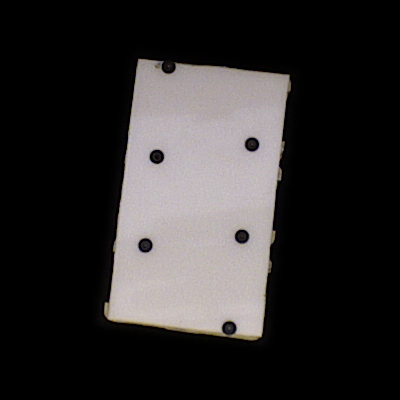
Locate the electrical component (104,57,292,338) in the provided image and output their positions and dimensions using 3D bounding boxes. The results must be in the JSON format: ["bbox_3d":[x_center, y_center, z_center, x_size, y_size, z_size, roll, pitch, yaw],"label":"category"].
[{"bbox_3d":[0.000,0.000,0.631,0.089,0.150,0.061,7,-6,1],"label":"electrical component"}]
